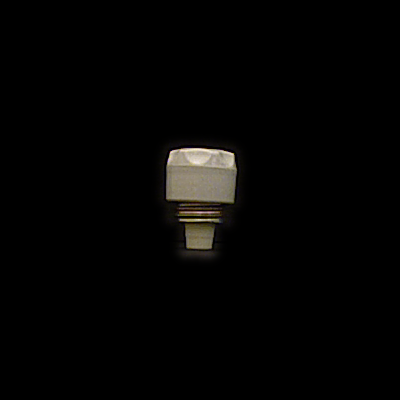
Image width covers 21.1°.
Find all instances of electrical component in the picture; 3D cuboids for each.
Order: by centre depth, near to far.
[{"bbox_3d":[0.000,0.000,0.657,0.043,0.062,0.043,2,1,0],"label":"electrical component"}]
